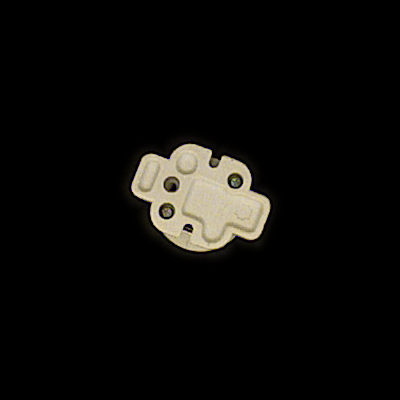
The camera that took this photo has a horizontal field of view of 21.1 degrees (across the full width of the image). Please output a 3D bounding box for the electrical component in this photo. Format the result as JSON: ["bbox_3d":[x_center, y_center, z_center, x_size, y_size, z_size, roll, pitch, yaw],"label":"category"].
[{"bbox_3d":[0.000,0.000,0.637,0.078,0.058,0.056,20,-6,1],"label":"electrical component"}]
